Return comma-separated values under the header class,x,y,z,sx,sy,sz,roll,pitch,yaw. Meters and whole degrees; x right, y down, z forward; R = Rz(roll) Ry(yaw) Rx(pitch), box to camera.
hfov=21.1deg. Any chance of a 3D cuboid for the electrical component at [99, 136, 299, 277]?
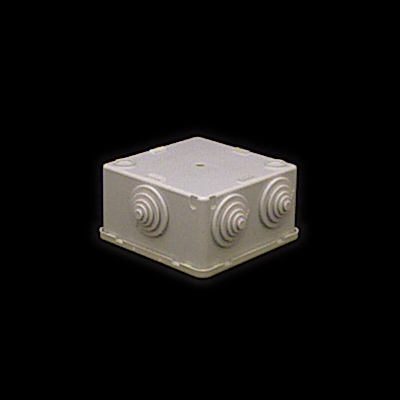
class,x,y,z,sx,sy,sz,roll,pitch,yaw
electrical component,0.000,0.000,0.640,0.099,0.049,0.099,19,27,39
